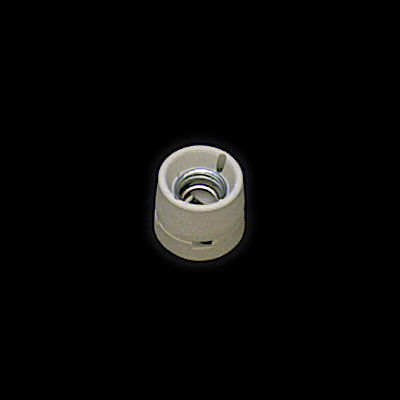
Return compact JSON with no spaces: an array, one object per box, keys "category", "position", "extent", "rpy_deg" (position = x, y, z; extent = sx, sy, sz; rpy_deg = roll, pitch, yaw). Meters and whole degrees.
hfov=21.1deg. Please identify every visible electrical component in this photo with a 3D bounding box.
[{"category":"electrical component","position":[0.000,0.000,0.635],"extent":[0.055,0.055,0.047],"rpy_deg":[0,-38,-2]}]
